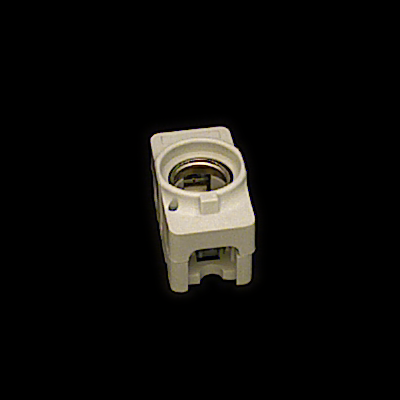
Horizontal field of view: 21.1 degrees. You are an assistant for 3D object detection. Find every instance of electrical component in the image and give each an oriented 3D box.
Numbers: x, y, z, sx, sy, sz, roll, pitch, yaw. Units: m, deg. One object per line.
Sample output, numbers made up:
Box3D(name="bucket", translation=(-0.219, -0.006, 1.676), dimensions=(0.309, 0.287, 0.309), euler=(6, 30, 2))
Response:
Box3D(name="electrical component", translation=(0.000, 0.000, 0.639), dimensions=(0.050, 0.056, 0.088), euler=(-6, 43, -7))
